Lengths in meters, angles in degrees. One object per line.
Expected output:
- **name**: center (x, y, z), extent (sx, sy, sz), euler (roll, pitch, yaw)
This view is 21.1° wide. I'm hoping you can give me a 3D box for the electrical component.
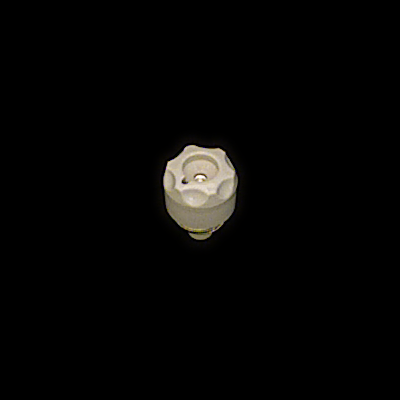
- **electrical component**: center (0.000, 0.000, 0.636), extent (0.043, 0.043, 0.062), euler (0, -38, -1)
